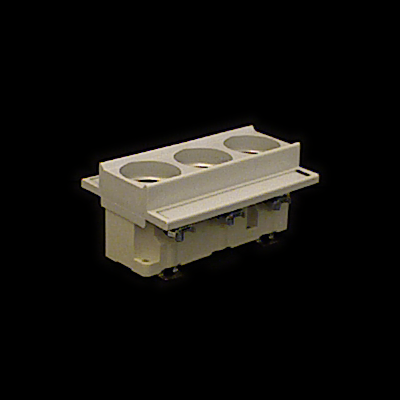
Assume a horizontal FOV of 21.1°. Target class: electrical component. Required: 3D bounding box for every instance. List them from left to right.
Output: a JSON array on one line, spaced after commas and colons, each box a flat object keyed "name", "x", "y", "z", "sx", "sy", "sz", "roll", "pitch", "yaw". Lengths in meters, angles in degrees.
[{"name": "electrical component", "x": 0.000, "y": 0.000, "z": 0.651, "sx": 0.121, "sy": 0.064, "sz": 0.078, "roll": -17, "pitch": 29, "yaw": -38}]
